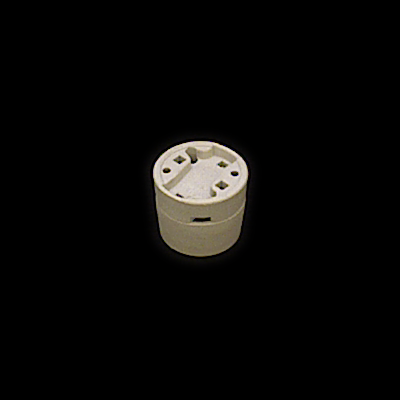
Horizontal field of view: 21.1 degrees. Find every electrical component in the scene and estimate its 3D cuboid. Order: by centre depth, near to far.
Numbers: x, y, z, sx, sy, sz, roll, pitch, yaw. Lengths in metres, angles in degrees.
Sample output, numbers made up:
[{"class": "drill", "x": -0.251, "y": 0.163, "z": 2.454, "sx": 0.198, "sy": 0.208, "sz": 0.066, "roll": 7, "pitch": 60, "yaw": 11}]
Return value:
[{"class": "electrical component", "x": 0.000, "y": 0.000, "z": 0.635, "sx": 0.055, "sy": 0.047, "sz": 0.055, "roll": 0, "pitch": 42, "yaw": 0}]
